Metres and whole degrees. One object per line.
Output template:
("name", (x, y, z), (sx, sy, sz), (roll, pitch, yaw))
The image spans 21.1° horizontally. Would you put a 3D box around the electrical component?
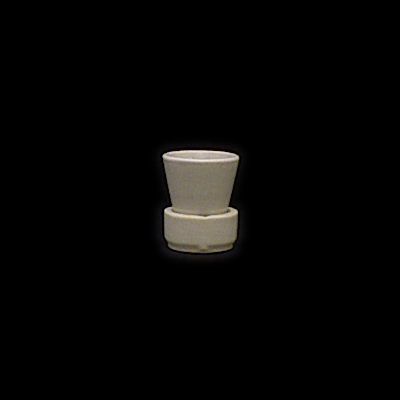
("electrical component", (0.000, 0.000, 0.642), (0.045, 0.055, 0.044), (1, 11, 0))
